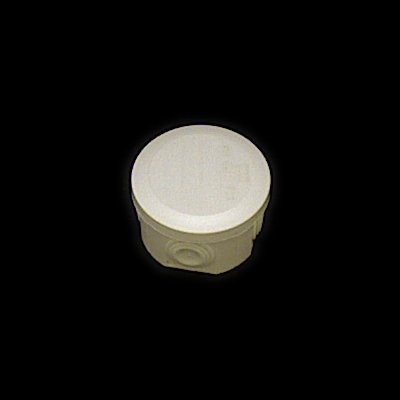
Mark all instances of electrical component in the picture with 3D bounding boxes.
[{"bbox_3d":[0.000,0.000,0.630,0.080,0.080,0.051,0,-38,0],"label":"electrical component"}]
